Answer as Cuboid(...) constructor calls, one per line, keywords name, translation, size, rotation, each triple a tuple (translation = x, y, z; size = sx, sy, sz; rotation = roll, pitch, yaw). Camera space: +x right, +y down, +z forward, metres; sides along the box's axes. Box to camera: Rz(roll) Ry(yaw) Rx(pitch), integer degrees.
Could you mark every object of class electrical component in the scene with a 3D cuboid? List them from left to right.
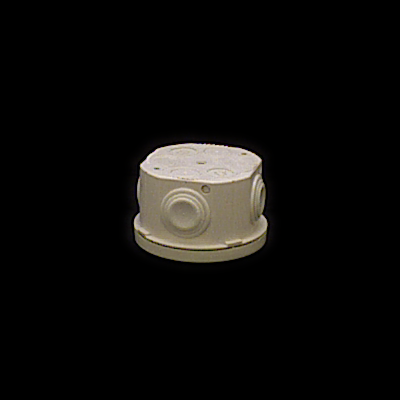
Cuboid(name="electrical component", translation=(0.000, 0.000, 0.640), size=(0.080, 0.051, 0.079), rotation=(1, 21, 0))
